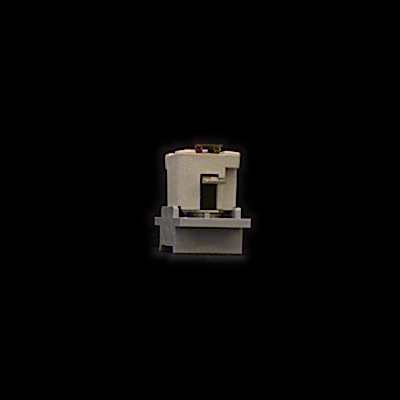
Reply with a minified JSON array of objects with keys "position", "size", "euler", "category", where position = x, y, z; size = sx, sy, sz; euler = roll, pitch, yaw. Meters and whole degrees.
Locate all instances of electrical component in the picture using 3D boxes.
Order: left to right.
[{"position":[0.000,0.000,0.650],"size":[0.042,0.064,0.080],"euler":[1,1,-14],"category":"electrical component"}]
